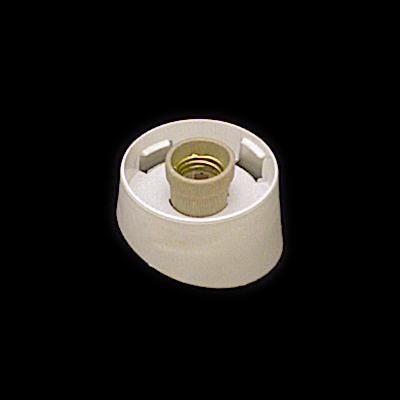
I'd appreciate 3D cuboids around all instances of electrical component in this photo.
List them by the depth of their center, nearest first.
[{"bbox_3d":[0.000,0.000,0.629,0.099,0.064,0.098,1,42,-1],"label":"electrical component"}]
